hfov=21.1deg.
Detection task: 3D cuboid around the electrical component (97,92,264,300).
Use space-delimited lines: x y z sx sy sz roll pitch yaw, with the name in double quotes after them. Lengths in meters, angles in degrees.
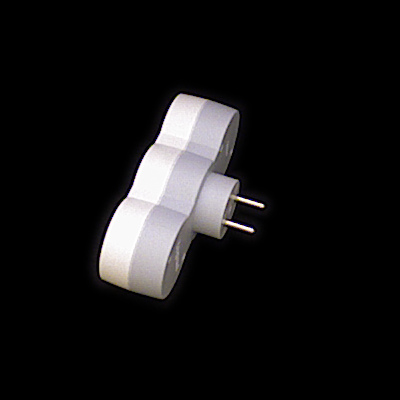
0.000 0.000 0.633 0.073 0.138 0.052 17 -36 10 "electrical component"
